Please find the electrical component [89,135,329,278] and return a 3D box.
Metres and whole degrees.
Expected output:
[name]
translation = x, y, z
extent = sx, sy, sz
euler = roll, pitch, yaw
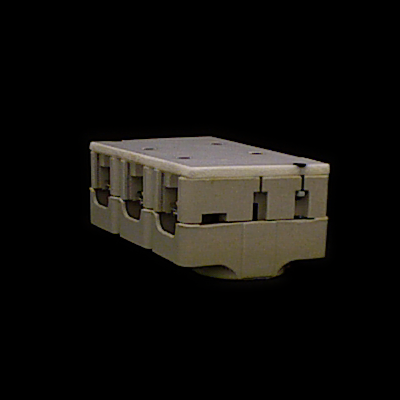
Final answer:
[electrical component]
translation = 0.000, 0.000, 0.649
extent = 0.089, 0.062, 0.148
euler = -4, 11, -25
